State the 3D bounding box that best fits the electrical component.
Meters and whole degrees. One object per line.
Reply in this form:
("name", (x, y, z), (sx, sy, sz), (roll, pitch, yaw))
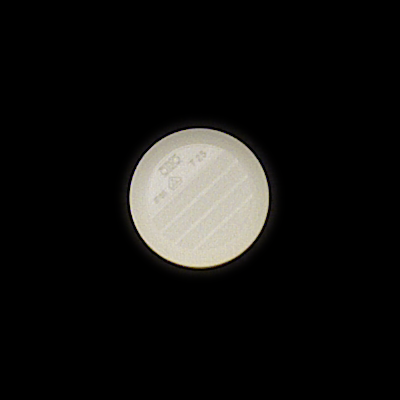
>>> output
("electrical component", (0.000, 0.000, 0.631), (0.080, 0.080, 0.050), (0, -7, 0))
